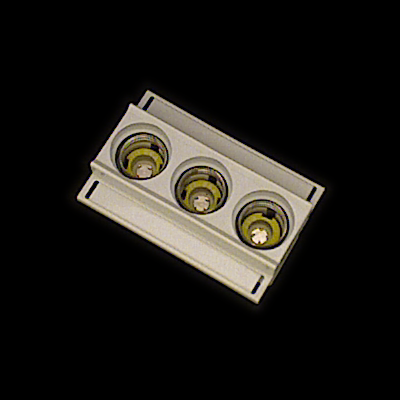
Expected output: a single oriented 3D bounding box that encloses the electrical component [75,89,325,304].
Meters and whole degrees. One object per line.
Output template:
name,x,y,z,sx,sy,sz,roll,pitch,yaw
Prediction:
electrical component,0.000,0.000,0.638,0.121,0.079,0.063,30,-15,9
